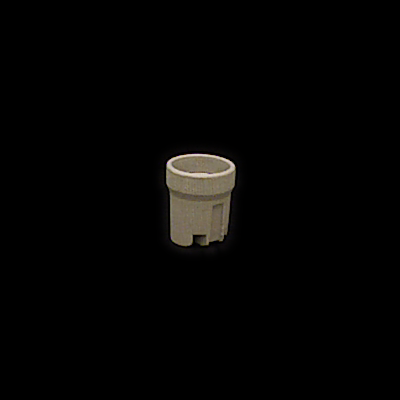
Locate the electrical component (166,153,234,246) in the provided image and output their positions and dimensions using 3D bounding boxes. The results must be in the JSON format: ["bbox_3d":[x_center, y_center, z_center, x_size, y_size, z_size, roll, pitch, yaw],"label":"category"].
[{"bbox_3d":[0.000,0.000,0.638,0.040,0.047,0.039,1,21,0],"label":"electrical component"}]
